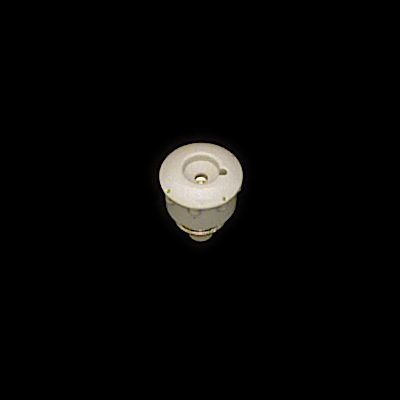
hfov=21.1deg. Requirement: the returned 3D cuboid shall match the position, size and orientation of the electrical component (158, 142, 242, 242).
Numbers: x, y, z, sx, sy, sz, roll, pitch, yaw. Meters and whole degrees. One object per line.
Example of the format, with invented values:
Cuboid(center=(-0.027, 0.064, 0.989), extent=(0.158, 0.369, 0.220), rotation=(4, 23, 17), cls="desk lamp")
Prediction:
Cuboid(center=(0.000, 0.000, 0.637), extent=(0.048, 0.048, 0.062), rotation=(0, -37, 0), cls="electrical component")
